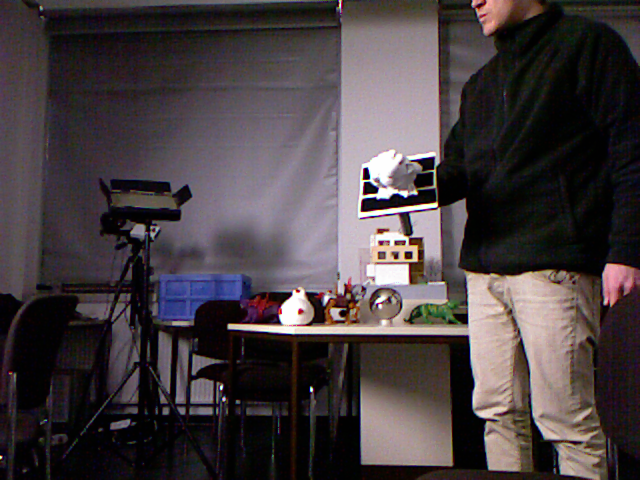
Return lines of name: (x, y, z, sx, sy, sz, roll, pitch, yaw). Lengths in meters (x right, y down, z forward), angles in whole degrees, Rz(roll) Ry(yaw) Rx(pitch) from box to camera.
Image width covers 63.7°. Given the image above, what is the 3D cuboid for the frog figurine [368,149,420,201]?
frog figurine: (0.187, -0.186, 1.325, 0.138, 0.125, 0.156, 9, -34, 24)
